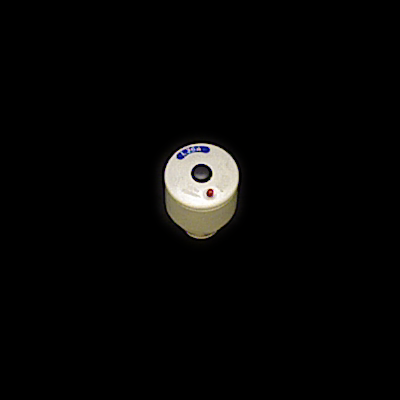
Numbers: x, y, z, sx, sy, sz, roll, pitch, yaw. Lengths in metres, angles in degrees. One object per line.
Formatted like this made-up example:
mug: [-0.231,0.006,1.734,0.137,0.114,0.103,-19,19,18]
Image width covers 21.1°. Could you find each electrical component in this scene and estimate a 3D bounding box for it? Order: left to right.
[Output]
electrical component: [0.000,0.000,0.616,0.040,0.040,0.078,0,-27,0]
